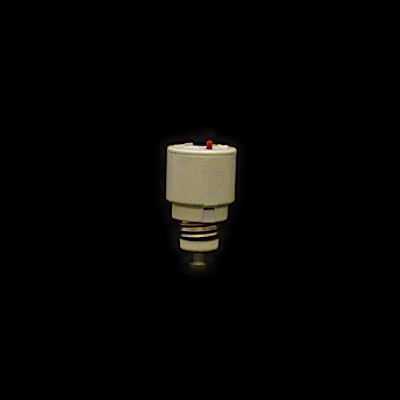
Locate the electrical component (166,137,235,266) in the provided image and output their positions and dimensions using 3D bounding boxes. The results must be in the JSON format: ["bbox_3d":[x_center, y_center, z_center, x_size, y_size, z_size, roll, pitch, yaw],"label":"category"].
[{"bbox_3d":[0.000,0.000,0.639,0.040,0.079,0.040,1,12,0],"label":"electrical component"}]
